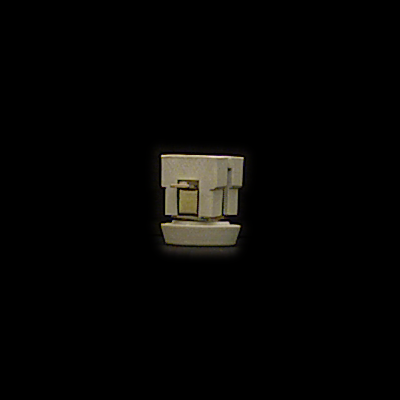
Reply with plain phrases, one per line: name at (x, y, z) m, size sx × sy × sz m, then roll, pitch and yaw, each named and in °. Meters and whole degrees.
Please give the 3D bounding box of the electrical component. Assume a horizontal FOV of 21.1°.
electrical component at (0.000, 0.000, 0.657) m, size 0.048 × 0.055 × 0.067 m, roll 3°, pitch 3°, yaw 24°
